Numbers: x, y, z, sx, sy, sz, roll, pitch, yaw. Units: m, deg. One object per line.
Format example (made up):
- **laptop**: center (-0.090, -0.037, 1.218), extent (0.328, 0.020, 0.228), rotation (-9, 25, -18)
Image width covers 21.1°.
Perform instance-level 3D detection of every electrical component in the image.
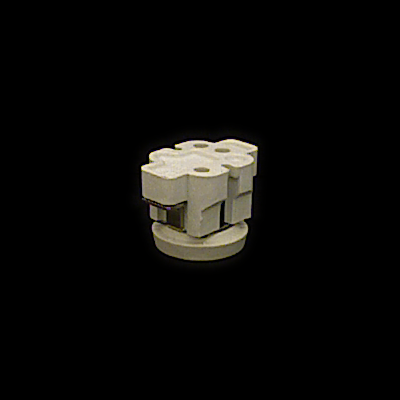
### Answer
- **electrical component**: center (0.000, 0.000, 0.644), extent (0.057, 0.057, 0.079), rotation (21, 30, 38)
